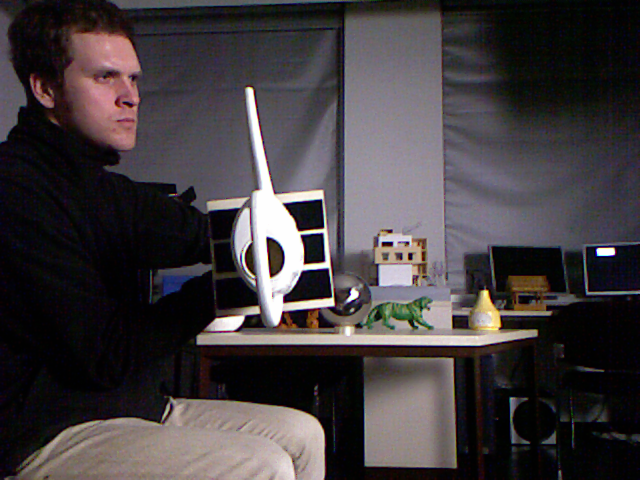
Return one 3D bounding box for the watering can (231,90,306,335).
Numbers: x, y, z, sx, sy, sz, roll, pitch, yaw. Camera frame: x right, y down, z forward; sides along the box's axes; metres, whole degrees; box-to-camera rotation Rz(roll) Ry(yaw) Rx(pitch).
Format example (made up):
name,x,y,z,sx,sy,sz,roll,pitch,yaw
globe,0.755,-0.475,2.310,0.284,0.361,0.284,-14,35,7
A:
name,x,y,z,sx,sy,sz,roll,pitch,yaw
watering can,-0.081,-0.036,0.799,0.104,0.350,0.224,-4,-4,2
